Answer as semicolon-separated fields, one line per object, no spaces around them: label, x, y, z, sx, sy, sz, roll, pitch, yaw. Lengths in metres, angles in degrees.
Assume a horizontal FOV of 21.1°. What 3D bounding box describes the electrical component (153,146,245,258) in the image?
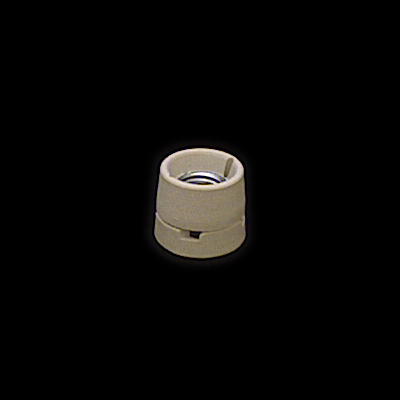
electrical component;0.000;0.000;0.639;0.055;0.047;0.055;2;31;-1
